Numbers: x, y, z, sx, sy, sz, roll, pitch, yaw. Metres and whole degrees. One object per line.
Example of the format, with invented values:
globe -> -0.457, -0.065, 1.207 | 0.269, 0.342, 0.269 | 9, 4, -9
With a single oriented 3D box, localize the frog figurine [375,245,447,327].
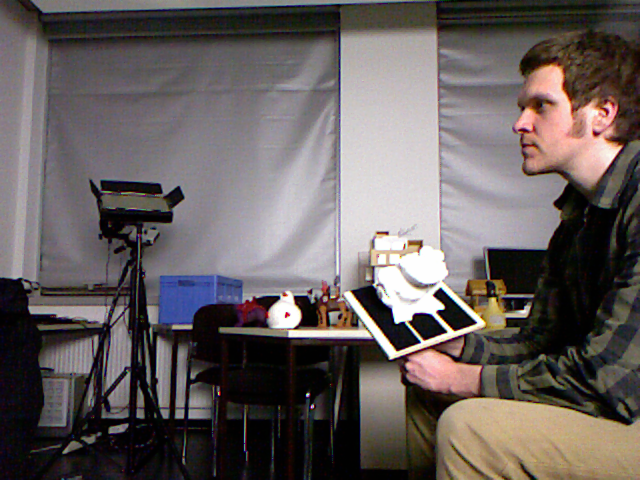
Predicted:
frog figurine -> 0.174, 0.069, 0.985 | 0.138, 0.156, 0.125 | -4, 32, -3
